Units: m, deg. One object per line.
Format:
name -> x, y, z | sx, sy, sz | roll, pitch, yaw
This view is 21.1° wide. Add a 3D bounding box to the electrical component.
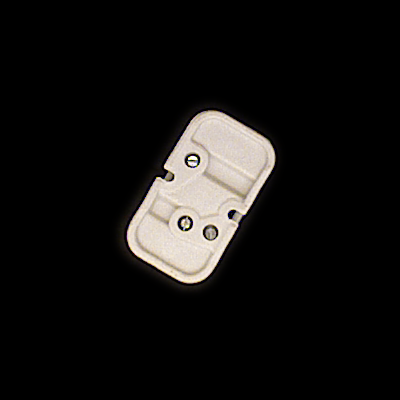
electrical component -> 0.000, 0.000, 0.637 | 0.054, 0.095, 0.059 | 30, -5, 4
